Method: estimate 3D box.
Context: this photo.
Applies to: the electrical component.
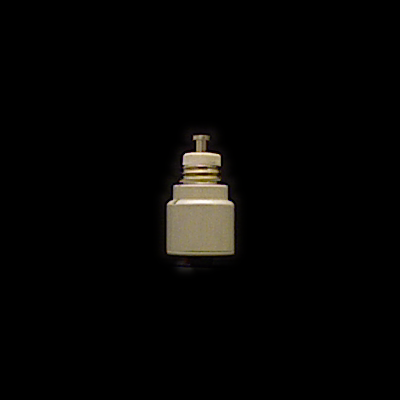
[{"bbox_3d":[0.000,0.000,0.650,0.040,0.078,0.040,1,2,0],"label":"electrical component"}]
